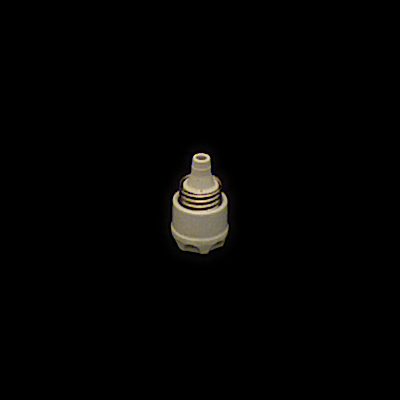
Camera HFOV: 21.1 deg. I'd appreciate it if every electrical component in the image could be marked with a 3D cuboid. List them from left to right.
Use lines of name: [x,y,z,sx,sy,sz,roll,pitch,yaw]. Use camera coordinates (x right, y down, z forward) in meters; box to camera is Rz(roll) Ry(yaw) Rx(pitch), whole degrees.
electrical component: [0.000,0.000,0.648,0.035,0.062,0.034,1,33,-1]
